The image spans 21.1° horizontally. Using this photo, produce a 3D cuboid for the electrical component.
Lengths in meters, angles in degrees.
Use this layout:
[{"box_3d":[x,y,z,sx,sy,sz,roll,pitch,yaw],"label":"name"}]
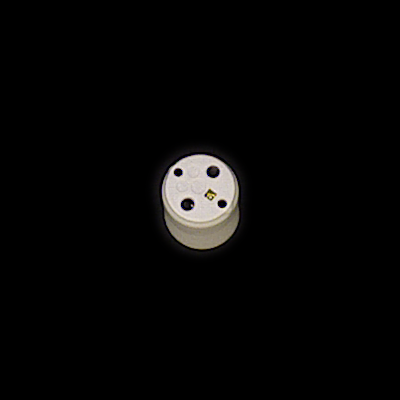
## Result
[{"box_3d":[0.000,0.000,0.628,0.045,0.045,0.055,0,-17,1],"label":"electrical component"}]
